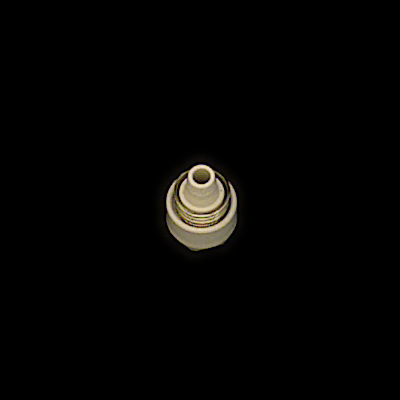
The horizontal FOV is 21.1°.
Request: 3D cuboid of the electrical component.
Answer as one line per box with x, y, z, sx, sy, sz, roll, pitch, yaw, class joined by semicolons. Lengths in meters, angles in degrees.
0.000;0.000;0.634;0.043;0.043;0.062;0;-28;0;electrical component
